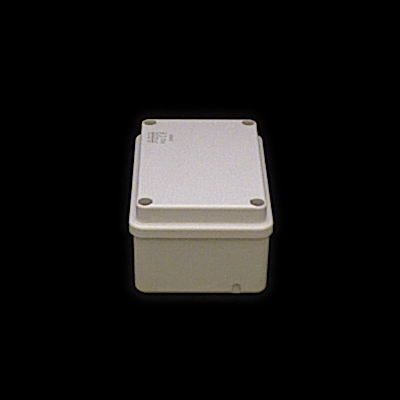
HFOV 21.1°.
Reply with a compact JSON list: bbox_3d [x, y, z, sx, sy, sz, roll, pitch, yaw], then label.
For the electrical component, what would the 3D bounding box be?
[{"bbox_3d":[0.000,0.000,0.634,0.078,0.058,0.111,0,32,-2],"label":"electrical component"}]
